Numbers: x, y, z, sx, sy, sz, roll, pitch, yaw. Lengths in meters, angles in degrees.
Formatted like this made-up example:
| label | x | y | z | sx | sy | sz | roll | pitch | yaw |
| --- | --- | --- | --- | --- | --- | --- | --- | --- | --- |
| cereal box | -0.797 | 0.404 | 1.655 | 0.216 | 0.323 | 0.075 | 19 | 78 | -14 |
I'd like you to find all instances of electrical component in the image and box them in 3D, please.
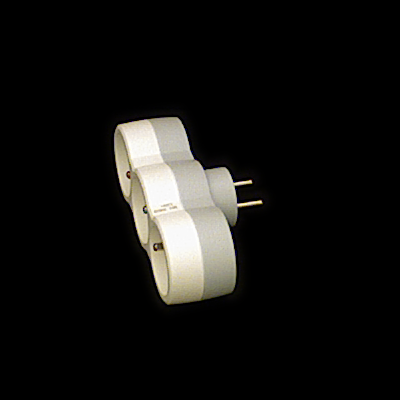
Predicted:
| label | x | y | z | sx | sy | sz | roll | pitch | yaw |
| --- | --- | --- | --- | --- | --- | --- | --- | --- | --- |
| electrical component | 0.000 | 0.000 | 0.640 | 0.074 | 0.052 | 0.136 | -10 | 44 | -14 |
